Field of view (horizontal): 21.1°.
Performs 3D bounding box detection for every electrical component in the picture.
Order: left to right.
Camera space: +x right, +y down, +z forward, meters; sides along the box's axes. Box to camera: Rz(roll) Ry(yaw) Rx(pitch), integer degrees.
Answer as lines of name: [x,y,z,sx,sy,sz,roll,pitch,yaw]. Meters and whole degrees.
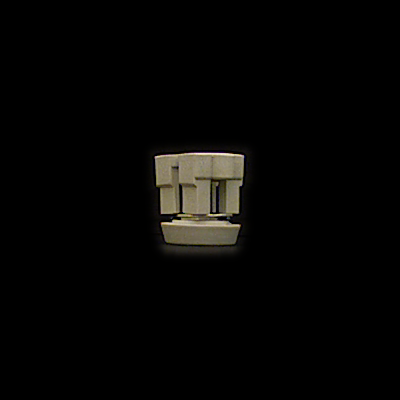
electrical component: [0.000,0.000,0.656,0.049,0.055,0.066,-2,2,-36]
